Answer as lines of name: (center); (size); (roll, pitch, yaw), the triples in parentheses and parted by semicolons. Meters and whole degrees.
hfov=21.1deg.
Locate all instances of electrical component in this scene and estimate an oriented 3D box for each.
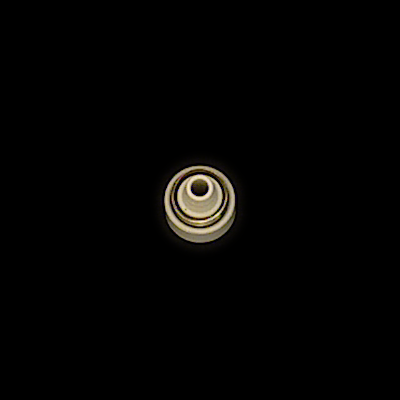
electrical component: (0.000, 0.000, 0.633); (0.043, 0.043, 0.061); (0, -14, 0)
